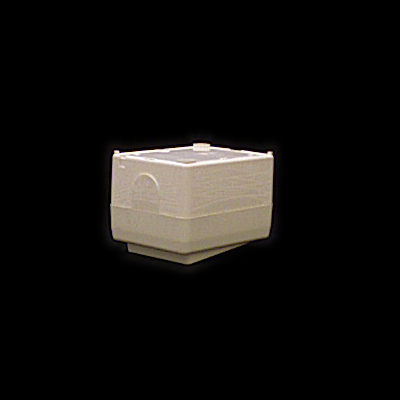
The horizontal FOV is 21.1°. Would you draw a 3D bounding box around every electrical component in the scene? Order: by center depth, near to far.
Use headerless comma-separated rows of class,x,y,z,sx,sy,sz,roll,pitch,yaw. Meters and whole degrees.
electrical component,0.000,0.000,0.644,0.061,0.061,0.096,10,13,40
